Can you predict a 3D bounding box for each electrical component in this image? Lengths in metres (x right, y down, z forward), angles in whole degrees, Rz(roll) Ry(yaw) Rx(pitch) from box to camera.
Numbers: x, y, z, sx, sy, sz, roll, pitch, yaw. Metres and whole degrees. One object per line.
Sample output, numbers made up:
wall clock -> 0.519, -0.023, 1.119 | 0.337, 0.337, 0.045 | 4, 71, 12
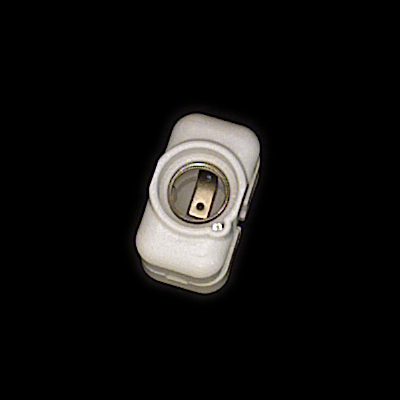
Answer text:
electrical component -> 0.000, 0.000, 0.633 | 0.053, 0.095, 0.059 | 16, -15, 5
